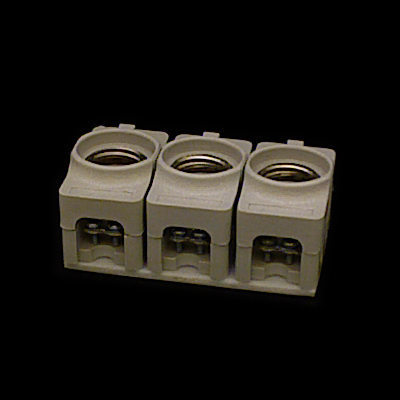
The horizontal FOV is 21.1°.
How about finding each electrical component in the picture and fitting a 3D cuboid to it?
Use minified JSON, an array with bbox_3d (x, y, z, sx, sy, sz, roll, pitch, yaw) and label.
[{"bbox_3d":[0.000,0.000,0.642,0.150,0.063,0.087,6,31,8],"label":"electrical component"}]
